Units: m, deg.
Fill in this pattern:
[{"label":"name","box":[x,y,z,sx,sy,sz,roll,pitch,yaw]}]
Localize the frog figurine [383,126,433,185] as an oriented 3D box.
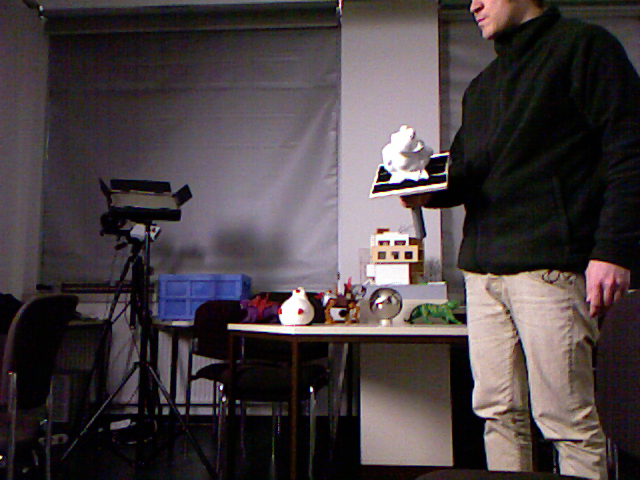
[{"label":"frog figurine","box":[0.233,-0.242,1.394,0.137,0.156,0.125,4,38,32]}]
